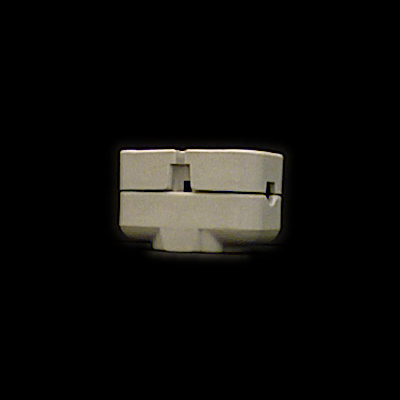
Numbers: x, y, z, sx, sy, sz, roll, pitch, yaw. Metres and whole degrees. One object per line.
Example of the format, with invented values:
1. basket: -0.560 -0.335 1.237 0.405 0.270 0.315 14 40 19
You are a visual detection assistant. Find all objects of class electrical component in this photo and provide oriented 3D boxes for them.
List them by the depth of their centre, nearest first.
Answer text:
1. electrical component: 0.000 0.000 0.654 0.094 0.059 0.054 2 1 27
